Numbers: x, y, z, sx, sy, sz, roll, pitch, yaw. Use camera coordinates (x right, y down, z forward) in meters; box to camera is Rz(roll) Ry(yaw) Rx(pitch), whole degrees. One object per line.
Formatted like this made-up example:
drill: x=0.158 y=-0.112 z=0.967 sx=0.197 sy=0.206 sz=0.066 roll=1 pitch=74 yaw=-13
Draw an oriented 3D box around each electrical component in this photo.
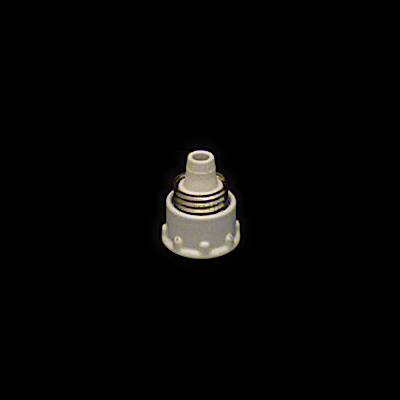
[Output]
electrical component: x=0.000 y=0.000 z=0.642 sx=0.048 sy=0.063 sz=0.047 roll=1 pitch=31 yaw=0
